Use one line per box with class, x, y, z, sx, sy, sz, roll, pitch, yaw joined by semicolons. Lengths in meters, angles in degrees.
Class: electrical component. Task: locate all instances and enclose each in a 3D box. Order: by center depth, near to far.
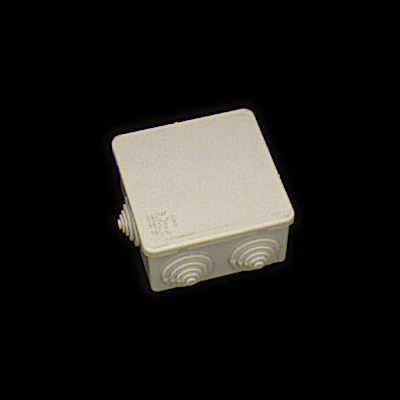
electrical component;0.000;0.000;0.639;0.100;0.099;0.048;-12;-36;-10
